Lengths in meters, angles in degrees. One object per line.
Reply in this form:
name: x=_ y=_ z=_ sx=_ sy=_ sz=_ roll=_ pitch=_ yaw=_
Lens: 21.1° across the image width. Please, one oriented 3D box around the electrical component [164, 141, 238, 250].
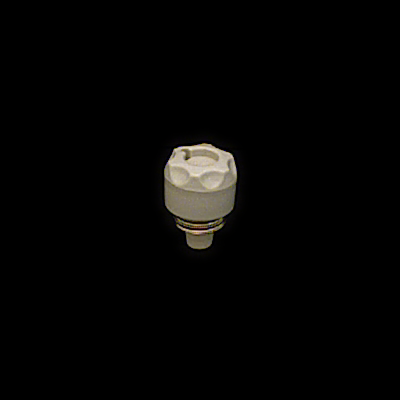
electrical component: x=0.000 y=0.000 z=0.641 sx=0.043 sy=0.063 sz=0.043 roll=1 pitch=33 yaw=0
